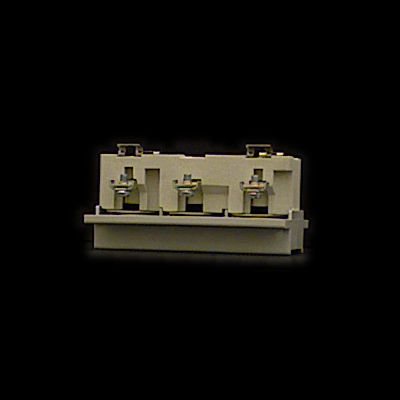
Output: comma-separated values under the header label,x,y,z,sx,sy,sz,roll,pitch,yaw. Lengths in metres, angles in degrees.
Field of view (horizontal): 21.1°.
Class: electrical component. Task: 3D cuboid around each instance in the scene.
label,x,y,z,sx,sy,sz,roll,pitch,yaw
electrical component,0.000,0.000,0.660,0.121,0.063,0.079,2,0,14
